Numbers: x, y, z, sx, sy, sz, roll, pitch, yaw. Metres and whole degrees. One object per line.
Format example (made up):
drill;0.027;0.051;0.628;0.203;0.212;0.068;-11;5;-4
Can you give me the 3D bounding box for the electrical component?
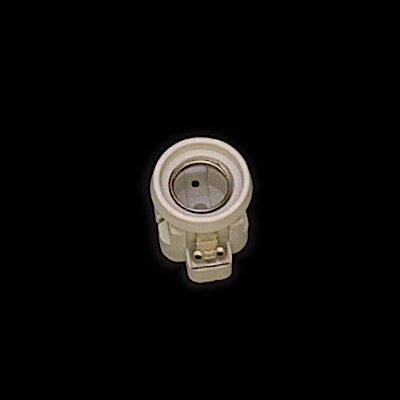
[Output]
electrical component;0.000;0.000;0.627;0.058;0.078;0.056;-8;-26;-4
